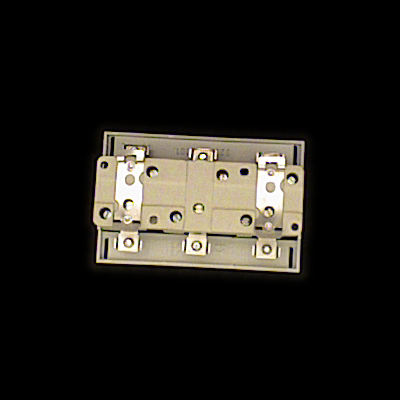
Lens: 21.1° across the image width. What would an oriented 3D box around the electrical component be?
[{"bbox_3d":[0.000,0.000,0.635,0.121,0.079,0.063,3,-7,0],"label":"electrical component"}]
